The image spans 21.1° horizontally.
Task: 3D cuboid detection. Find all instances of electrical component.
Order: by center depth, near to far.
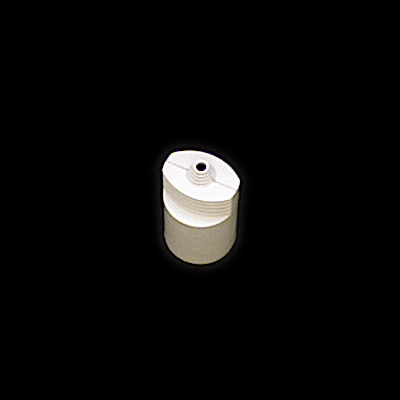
[{"bbox_3d":[0.000,0.000,0.617,0.043,0.043,0.081,0,-27,0],"label":"electrical component"}]
